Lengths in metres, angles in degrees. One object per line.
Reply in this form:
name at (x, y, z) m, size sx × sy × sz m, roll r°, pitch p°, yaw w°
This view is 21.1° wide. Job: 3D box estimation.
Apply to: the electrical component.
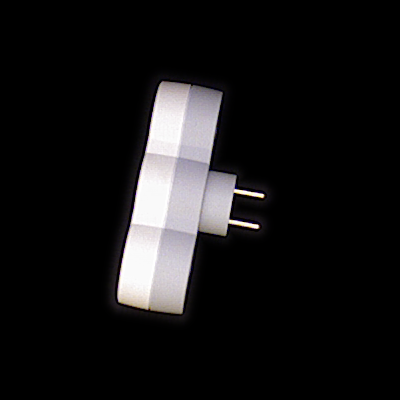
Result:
electrical component at (0.000, 0.000, 0.631) m, size 0.074 × 0.138 × 0.052 m, roll 10°, pitch -18°, yaw 1°
